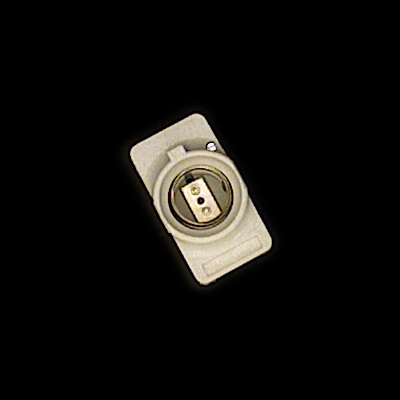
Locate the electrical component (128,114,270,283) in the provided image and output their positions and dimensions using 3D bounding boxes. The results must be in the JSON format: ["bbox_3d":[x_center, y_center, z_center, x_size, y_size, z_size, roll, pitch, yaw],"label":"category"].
[{"bbox_3d":[0.000,0.000,0.637,0.050,0.089,0.055,-29,-5,-2],"label":"electrical component"}]
